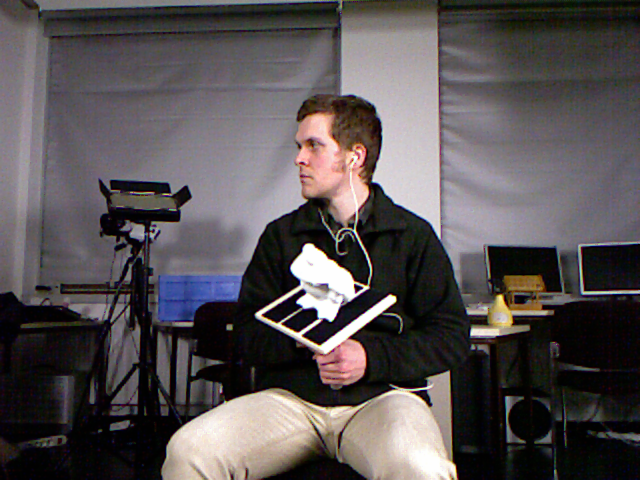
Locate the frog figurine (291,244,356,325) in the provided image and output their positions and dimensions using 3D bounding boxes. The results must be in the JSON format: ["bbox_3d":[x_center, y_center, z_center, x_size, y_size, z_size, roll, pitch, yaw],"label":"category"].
[{"bbox_3d":[0.003,0.067,0.991,0.123,0.156,0.139,-18,29,-17],"label":"frog figurine"}]
